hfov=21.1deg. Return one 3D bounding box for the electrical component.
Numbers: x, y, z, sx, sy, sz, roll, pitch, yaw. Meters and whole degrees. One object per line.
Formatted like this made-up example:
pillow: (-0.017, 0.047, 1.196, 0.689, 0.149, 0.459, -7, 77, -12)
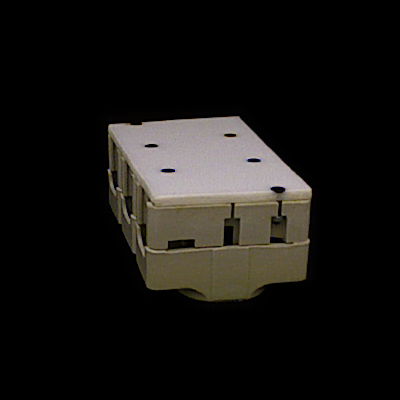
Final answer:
electrical component: (0.000, 0.000, 0.643, 0.089, 0.063, 0.147, -4, 21, -13)
